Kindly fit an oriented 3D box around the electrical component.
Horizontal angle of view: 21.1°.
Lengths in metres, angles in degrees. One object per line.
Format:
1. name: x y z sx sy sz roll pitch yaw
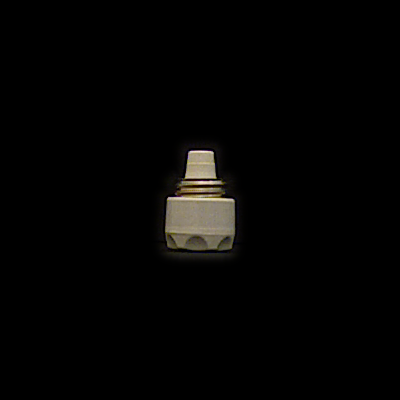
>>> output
1. electrical component: 0.000 0.000 0.657 0.043 0.062 0.043 1 1 1
